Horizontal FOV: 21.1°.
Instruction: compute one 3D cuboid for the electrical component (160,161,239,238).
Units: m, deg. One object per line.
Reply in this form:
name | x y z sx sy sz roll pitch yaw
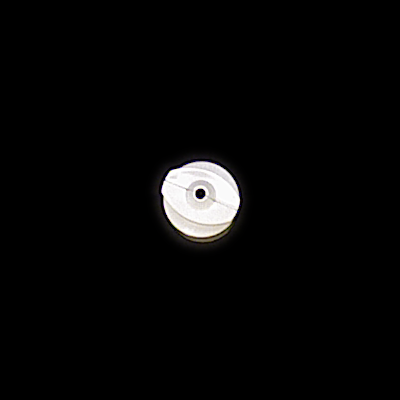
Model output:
electrical component | 0.000 0.000 0.616 0.043 0.043 0.080 0 -6 1
